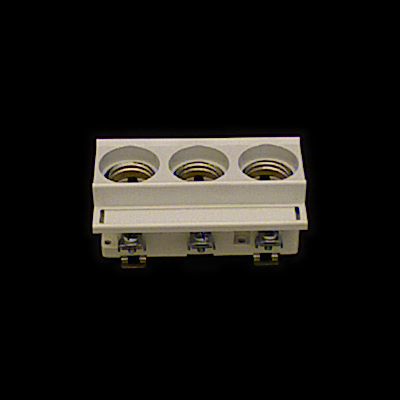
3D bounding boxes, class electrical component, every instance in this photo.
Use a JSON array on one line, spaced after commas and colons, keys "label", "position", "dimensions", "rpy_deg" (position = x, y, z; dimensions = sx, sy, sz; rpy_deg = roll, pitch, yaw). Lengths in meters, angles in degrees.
[{"label": "electrical component", "position": [0.000, 0.000, 0.643], "dimensions": [0.121, 0.064, 0.077], "rpy_deg": [-1, 41, -1]}]
